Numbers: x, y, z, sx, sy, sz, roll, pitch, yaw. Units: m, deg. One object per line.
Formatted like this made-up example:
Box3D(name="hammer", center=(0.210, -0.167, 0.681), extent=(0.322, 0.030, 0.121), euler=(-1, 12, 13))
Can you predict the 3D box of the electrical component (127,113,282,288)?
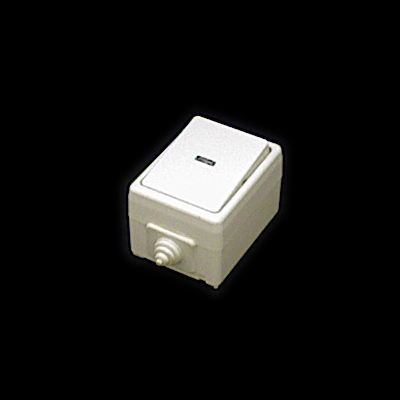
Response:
Box3D(name="electrical component", center=(0.000, 0.000, 0.629), extent=(0.061, 0.061, 0.096), euler=(21, 46, 22))
